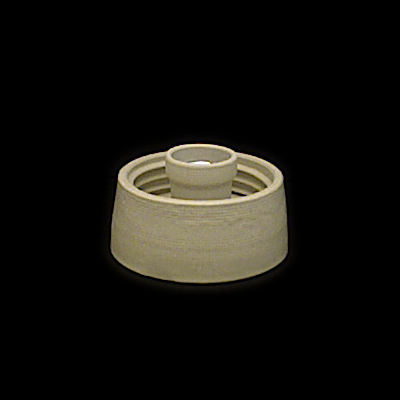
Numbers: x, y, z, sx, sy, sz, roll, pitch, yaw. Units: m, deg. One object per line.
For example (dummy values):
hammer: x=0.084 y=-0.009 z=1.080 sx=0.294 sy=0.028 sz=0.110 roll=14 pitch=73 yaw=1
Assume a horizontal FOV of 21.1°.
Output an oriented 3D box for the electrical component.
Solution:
electrical component: x=0.000 y=0.000 z=0.644 sx=0.108 sy=0.061 sz=0.106 roll=1 pitch=21 yaw=0
